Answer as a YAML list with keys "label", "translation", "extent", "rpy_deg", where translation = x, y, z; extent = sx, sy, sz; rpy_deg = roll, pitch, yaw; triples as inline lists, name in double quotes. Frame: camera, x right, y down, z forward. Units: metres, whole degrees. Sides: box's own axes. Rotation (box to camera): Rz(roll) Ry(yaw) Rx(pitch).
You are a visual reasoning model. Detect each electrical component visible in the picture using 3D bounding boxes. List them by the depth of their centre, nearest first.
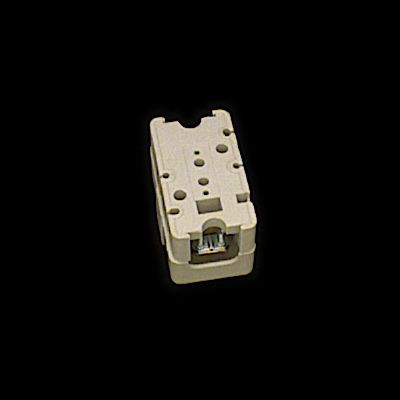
- label: "electrical component"
  translation: [0.000, 0.000, 0.637]
  extent: [0.050, 0.089, 0.056]
  rpy_deg: [-8, -36, -6]
